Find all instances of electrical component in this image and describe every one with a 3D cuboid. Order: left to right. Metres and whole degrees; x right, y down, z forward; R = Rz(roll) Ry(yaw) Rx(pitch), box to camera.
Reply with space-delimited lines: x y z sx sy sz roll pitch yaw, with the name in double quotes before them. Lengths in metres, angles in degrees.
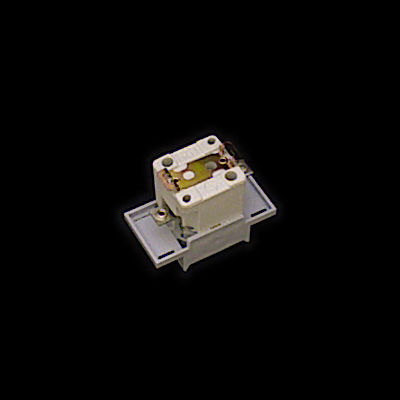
"electrical component" 0.000 0.000 0.627 0.081 0.042 0.064 -24 -34 -18
